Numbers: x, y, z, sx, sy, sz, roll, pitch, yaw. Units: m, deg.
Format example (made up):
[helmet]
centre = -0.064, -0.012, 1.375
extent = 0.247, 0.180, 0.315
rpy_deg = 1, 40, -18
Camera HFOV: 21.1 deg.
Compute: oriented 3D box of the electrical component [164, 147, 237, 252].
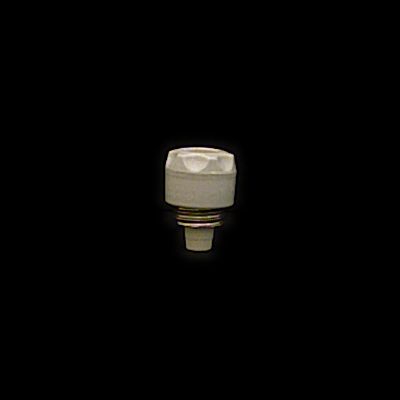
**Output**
[electrical component]
centre = 0.000, 0.000, 0.651
extent = 0.043, 0.062, 0.043
rpy_deg = 2, 12, 0
